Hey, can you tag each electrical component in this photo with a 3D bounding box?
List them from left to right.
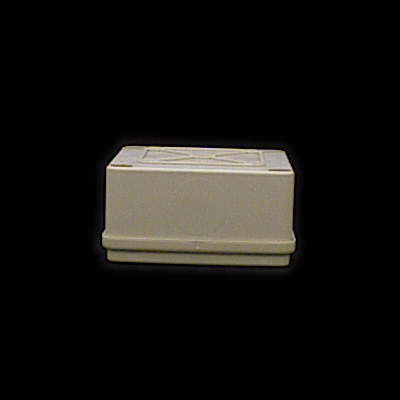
[{"bbox_3d":[0.000,0.000,0.647,0.109,0.056,0.108,2,10,1],"label":"electrical component"}]
